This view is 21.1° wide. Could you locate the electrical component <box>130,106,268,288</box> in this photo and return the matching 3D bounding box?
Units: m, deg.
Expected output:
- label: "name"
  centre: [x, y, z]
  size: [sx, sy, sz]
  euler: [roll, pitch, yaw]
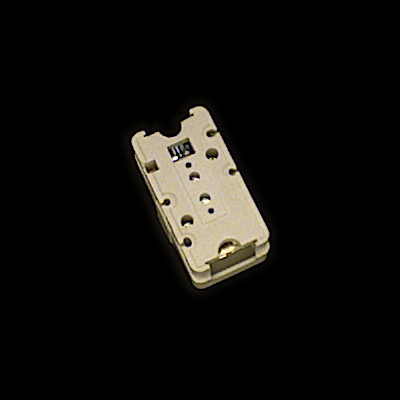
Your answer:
- label: "electrical component"
  centre: [0.000, 0.000, 0.636]
  size: [0.050, 0.089, 0.055]
  euler: [-25, -15, -6]
